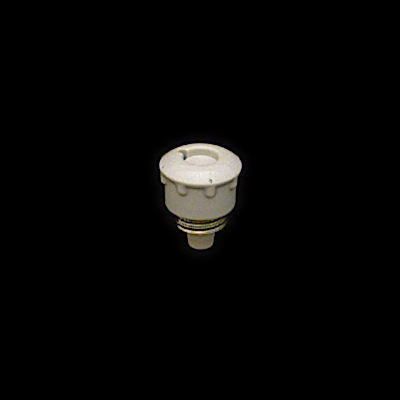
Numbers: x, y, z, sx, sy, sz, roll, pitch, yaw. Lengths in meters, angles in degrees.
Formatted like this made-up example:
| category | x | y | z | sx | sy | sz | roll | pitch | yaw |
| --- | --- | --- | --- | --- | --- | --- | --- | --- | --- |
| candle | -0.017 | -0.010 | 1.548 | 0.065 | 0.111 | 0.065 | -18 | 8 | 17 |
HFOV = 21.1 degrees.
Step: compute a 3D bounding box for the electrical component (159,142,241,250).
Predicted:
| category | x | y | z | sx | sy | sz | roll | pitch | yaw |
| --- | --- | --- | --- | --- | --- | --- | --- | --- | --- |
| electrical component | 0.000 | 0.000 | 0.639 | 0.048 | 0.063 | 0.047 | 1 | 32 | 0 |
